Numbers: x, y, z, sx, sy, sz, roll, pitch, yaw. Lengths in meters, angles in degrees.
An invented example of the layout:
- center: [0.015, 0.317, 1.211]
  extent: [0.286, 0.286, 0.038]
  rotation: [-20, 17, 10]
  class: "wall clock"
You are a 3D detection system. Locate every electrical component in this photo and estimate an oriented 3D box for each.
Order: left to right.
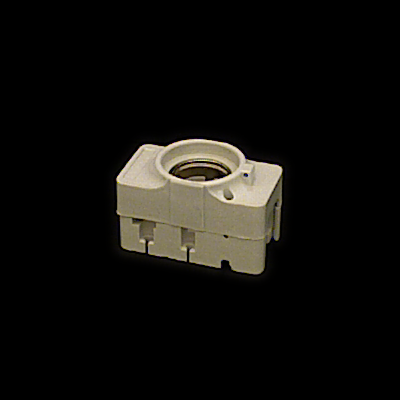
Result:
- center: [0.000, 0.000, 0.642]
  extent: [0.089, 0.056, 0.050]
  rotation: [10, 33, 14]
  class: "electrical component"
